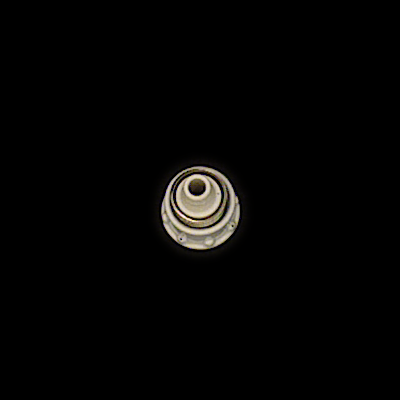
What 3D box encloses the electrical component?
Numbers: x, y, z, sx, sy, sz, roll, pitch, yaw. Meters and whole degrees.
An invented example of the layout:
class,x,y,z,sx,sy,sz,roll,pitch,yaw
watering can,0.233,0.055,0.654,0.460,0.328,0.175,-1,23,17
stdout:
class,x,y,z,sx,sy,sz,roll,pitch,yaw
electrical component,0.000,0.000,0.633,0.048,0.048,0.061,0,-16,2
